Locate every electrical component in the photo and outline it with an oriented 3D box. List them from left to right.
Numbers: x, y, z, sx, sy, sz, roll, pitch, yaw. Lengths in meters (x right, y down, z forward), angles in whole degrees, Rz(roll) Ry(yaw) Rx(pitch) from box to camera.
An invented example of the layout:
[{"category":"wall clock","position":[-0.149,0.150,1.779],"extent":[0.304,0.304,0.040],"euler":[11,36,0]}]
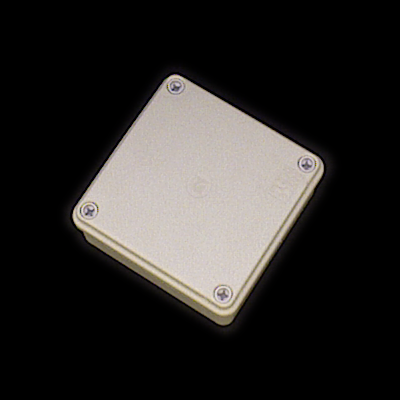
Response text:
[{"category":"electrical component","position":[0.000,0.000,0.629],"extent":[0.109,0.109,0.056],"euler":[31,-14,9]}]
